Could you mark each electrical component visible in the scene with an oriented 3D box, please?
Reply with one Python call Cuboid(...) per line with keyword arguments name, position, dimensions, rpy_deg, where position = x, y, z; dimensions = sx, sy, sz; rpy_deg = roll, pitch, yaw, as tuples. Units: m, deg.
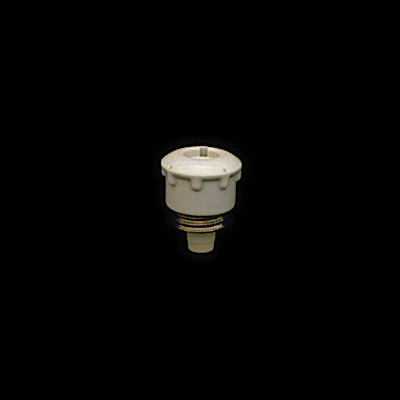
Cuboid(name="electrical component", position=(0.000, 0.000, 0.646), dimensions=(0.048, 0.063, 0.047), rpy_deg=(1, 22, 0))
